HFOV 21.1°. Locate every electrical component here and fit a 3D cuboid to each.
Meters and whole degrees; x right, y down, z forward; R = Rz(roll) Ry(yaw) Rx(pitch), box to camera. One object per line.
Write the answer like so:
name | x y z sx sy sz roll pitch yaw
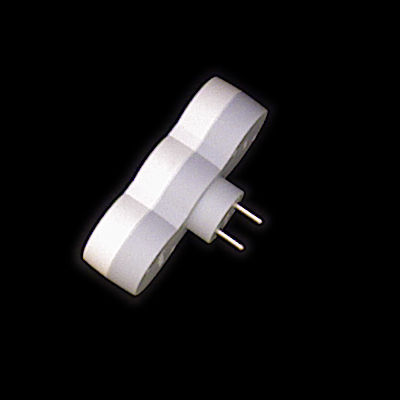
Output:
electrical component | 0.000 0.000 0.631 0.074 0.138 0.052 34 -15 8
